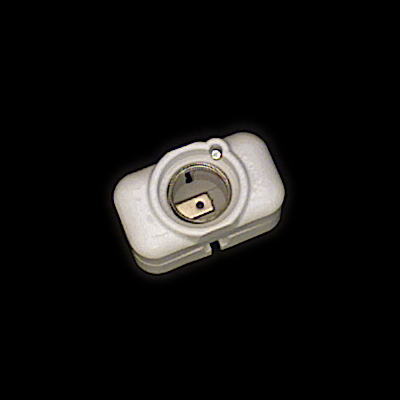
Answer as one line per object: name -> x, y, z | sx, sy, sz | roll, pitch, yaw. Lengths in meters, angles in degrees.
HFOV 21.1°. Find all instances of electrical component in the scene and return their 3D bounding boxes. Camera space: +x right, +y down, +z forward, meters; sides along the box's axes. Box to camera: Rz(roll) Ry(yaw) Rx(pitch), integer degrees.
electrical component -> 0.000, 0.000, 0.634 | 0.095, 0.054, 0.059 | -22, -14, -6
